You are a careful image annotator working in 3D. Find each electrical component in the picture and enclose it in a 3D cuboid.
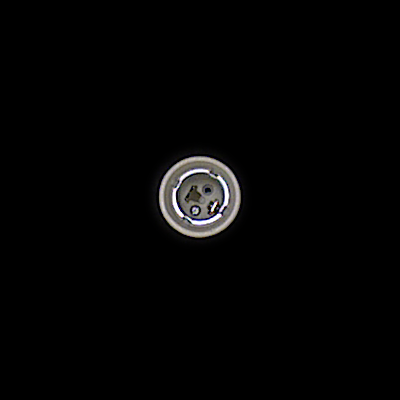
[{"bbox_3d":[0.000,0.000,0.625,0.044,0.044,0.065,0,-5,1],"label":"electrical component"}]
